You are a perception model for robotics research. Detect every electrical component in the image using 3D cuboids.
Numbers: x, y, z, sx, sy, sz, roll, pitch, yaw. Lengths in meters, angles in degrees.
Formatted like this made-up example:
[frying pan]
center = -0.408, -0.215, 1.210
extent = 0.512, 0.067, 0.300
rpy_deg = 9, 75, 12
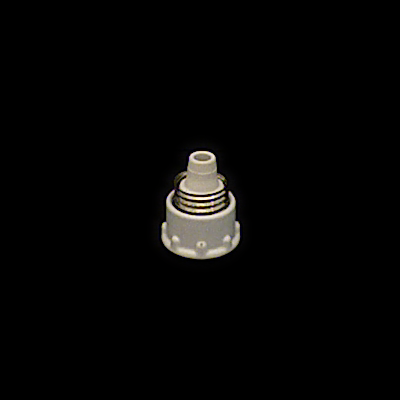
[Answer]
[electrical component]
center = 0.000, 0.000, 0.643
extent = 0.048, 0.063, 0.047
rpy_deg = 2, 31, 0
